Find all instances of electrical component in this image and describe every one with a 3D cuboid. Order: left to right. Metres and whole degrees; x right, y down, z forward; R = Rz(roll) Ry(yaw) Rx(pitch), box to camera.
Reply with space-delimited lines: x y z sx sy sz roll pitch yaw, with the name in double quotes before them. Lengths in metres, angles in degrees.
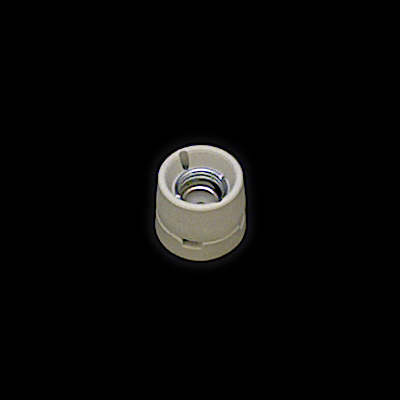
"electrical component" 0.000 0.000 0.635 0.055 0.055 0.047 0 -38 0
